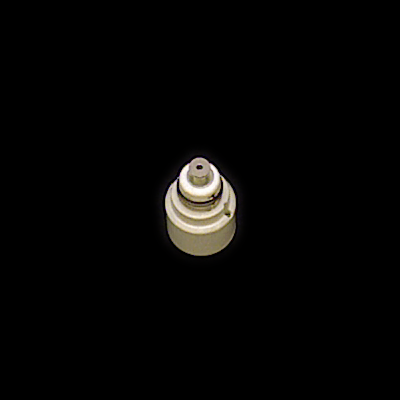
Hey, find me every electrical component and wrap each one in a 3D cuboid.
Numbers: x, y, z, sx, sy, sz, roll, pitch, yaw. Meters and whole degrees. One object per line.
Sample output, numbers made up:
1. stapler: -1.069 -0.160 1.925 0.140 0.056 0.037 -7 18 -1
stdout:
1. electrical component: 0.000 0.000 0.618 0.040 0.040 0.078 0 -27 1
